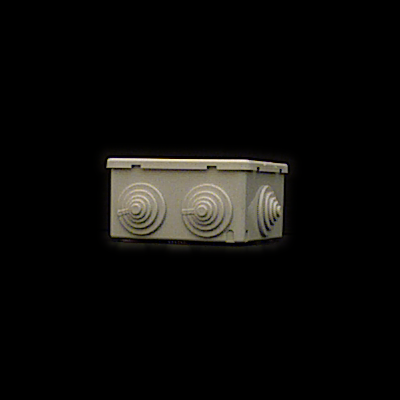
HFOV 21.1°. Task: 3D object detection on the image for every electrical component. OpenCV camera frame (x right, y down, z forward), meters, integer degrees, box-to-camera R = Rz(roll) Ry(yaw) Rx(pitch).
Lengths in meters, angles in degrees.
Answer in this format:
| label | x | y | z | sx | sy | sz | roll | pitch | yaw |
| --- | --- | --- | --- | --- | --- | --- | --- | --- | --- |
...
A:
| label | x | y | z | sx | sy | sz | roll | pitch | yaw |
| --- | --- | --- | --- | --- | --- | --- | --- | --- | --- |
| electrical component | 0.000 | 0.000 | 0.655 | 0.099 | 0.048 | 0.100 | 2 | 1 | 20 |
